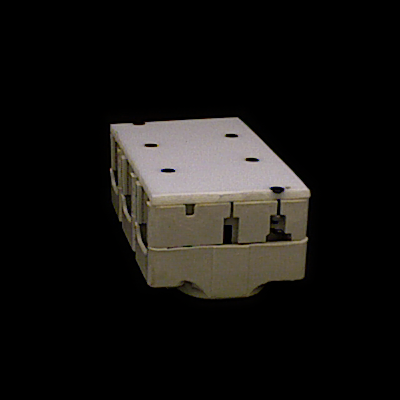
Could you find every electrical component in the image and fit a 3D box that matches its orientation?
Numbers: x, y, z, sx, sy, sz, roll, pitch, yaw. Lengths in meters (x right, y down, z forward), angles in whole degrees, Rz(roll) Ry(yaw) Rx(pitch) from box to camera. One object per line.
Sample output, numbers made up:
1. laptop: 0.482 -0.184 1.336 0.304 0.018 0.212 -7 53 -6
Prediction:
1. electrical component: 0.000 0.000 0.647 0.090 0.063 0.147 -3 20 -12
